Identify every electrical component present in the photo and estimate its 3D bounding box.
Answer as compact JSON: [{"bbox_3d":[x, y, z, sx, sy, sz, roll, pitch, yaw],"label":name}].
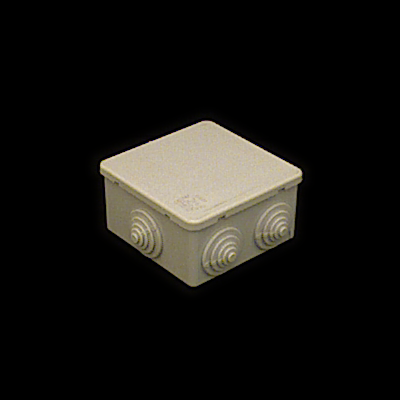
[{"bbox_3d":[0.000,0.000,0.643,0.100,0.049,0.098,-24,40,-34],"label":"electrical component"}]
